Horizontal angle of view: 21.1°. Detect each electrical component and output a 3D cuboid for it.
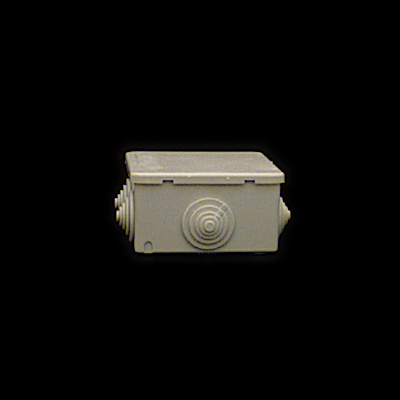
[{"bbox_3d":[0.000,0.000,0.652,0.100,0.049,0.098,0,11,-6],"label":"electrical component"}]
